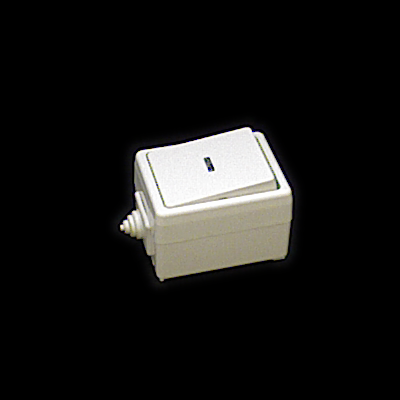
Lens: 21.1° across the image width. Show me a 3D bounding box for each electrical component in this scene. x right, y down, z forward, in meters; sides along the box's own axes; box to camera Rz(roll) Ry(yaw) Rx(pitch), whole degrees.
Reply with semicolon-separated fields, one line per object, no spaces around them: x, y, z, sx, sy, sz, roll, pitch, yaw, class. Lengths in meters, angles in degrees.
0.000;0.000;0.630;0.096;0.061;0.061;-10;43;-12;electrical component
